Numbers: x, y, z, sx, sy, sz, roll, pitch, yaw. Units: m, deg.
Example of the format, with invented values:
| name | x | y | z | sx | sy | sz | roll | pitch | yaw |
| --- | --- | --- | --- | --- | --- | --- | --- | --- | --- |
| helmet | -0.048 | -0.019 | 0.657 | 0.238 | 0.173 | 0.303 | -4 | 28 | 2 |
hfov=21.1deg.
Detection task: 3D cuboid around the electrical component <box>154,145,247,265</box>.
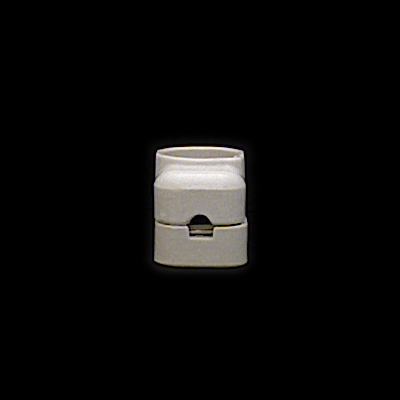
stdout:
| name | x | y | z | sx | sy | sz | roll | pitch | yaw |
| --- | --- | --- | --- | --- | --- | --- | --- | --- | --- |
| electrical component | 0.000 | 0.000 | 0.651 | 0.054 | 0.060 | 0.094 | 1 | 11 | -1 |
